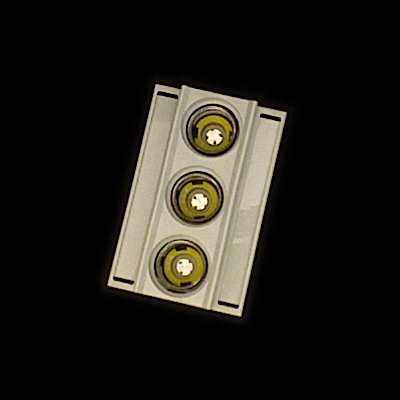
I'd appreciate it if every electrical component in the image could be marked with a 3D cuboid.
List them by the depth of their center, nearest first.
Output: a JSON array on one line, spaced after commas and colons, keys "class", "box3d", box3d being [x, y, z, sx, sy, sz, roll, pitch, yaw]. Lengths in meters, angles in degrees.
[{"class": "electrical component", "box3d": [0.000, 0.000, 0.637, 0.079, 0.121, 0.063, 13, -5, 3]}]
